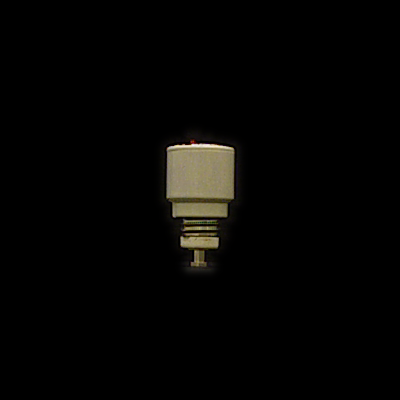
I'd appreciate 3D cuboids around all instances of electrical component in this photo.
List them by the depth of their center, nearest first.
[{"bbox_3d":[0.000,0.000,0.652,0.040,0.078,0.040,1,1,0],"label":"electrical component"}]
